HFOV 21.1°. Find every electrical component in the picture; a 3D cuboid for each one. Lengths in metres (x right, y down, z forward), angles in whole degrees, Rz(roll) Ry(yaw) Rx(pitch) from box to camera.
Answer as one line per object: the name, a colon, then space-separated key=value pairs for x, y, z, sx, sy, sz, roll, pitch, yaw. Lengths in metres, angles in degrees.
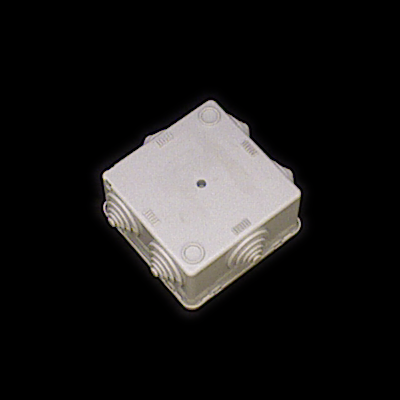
electrical component: x=0.000 y=0.000 z=0.632 sx=0.100 sy=0.099 sz=0.048 roll=-36 pitch=-21 yaw=-17
